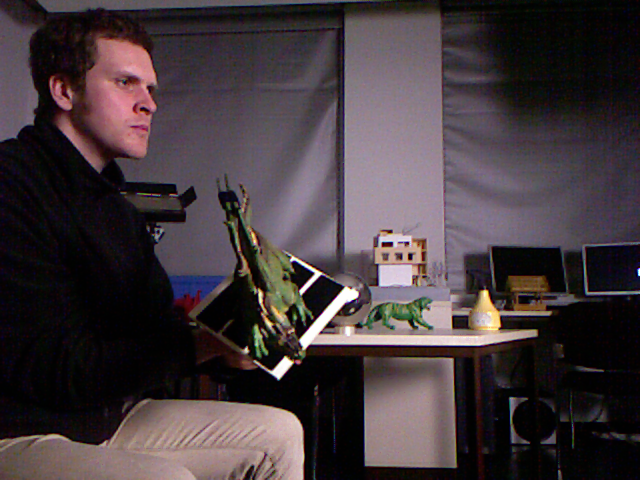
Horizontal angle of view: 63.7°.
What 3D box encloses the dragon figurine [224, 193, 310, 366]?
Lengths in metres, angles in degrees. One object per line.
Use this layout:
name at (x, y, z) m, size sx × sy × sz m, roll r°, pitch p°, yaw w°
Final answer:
dragon figurine at (-0.099, 0.021, 0.793) m, size 0.123 × 0.420 × 0.238 m, roll -17°, pitch -36°, yaw -9°
